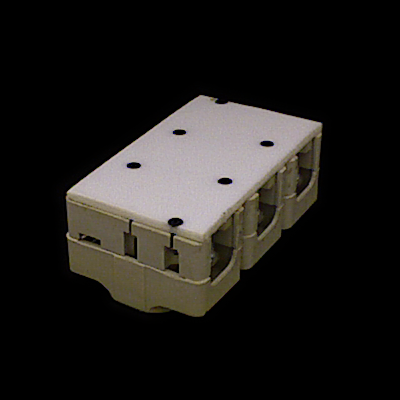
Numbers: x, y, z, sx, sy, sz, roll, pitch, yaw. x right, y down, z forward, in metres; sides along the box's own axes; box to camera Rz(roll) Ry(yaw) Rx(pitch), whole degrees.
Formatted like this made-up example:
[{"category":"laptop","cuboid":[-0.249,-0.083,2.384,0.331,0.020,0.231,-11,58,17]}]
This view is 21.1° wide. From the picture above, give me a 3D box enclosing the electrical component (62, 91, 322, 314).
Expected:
[{"category":"electrical component","cuboid":[0.000,0.000,0.637,0.089,0.063,0.148,17,35,25]}]
